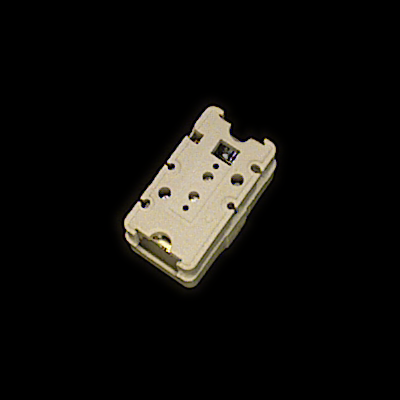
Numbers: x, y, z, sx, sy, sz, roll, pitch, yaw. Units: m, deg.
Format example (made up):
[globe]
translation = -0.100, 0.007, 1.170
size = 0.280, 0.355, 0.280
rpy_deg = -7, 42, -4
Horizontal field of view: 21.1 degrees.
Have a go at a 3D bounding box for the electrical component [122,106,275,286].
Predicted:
[electrical component]
translation = 0.000, 0.000, 0.636
size = 0.050, 0.090, 0.055
rpy_deg = 34, -14, 10
